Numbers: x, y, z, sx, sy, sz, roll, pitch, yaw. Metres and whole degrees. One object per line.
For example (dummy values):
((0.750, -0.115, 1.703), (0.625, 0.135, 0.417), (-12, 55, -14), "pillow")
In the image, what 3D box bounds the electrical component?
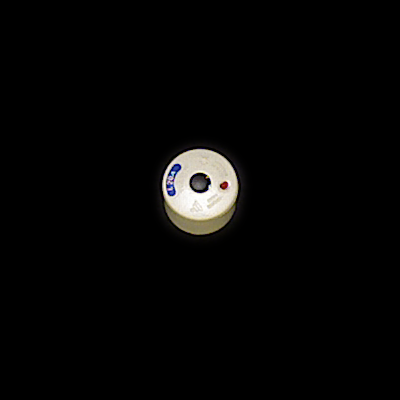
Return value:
((0.000, 0.000, 0.617), (0.040, 0.040, 0.078), (0, -17, -1), "electrical component")
